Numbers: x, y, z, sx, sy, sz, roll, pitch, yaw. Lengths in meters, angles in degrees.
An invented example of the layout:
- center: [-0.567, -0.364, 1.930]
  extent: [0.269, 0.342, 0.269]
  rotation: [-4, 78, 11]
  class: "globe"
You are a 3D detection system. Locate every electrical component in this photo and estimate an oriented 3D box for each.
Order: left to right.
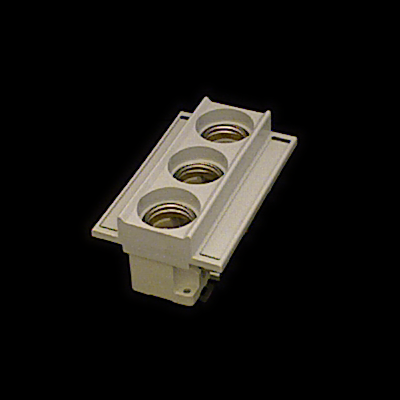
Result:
- center: [0.000, 0.000, 0.642]
  extent: [0.078, 0.064, 0.120]
  rotation: [16, 45, 18]
  class: "electrical component"
